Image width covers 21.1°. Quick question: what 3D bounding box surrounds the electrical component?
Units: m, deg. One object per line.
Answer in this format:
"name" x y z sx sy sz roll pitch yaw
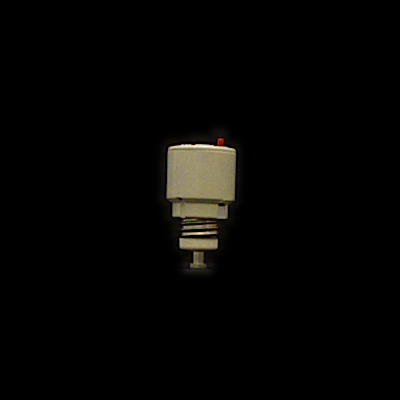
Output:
"electrical component" 0.000 0.000 0.648 0.040 0.078 0.040 2 1 0
